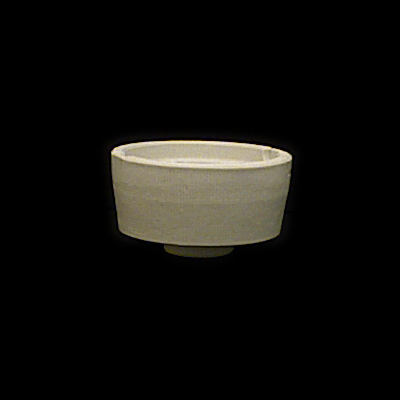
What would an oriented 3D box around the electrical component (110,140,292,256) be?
[{"bbox_3d":[0.000,0.000,0.647,0.108,0.061,0.107,2,11,0],"label":"electrical component"}]
